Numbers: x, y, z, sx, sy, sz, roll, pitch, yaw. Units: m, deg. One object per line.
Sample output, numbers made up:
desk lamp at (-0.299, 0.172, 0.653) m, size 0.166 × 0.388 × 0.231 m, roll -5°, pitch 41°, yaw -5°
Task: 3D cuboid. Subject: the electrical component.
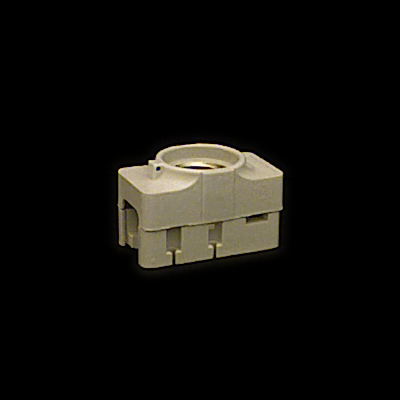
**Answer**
electrical component at (0.000, 0.000, 0.647) m, size 0.090 × 0.056 × 0.049 m, roll -9°, pitch 24°, yaw -24°
